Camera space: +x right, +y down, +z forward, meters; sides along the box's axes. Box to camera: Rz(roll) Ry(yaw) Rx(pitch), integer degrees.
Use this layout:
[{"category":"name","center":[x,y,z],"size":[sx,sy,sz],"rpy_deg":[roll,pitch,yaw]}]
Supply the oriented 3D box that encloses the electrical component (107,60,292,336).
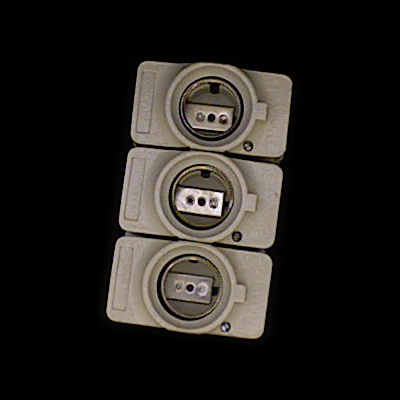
[{"category":"electrical component","center":[0.000,0.000,0.632],"size":[0.089,0.150,0.061],"rpy_deg":[7,-6,0]}]
